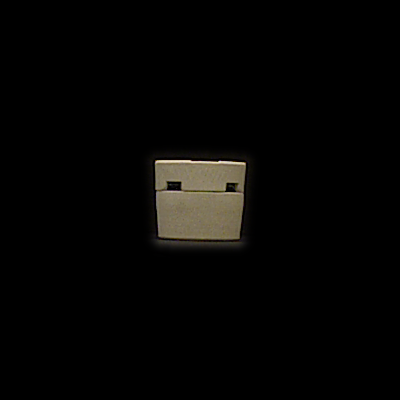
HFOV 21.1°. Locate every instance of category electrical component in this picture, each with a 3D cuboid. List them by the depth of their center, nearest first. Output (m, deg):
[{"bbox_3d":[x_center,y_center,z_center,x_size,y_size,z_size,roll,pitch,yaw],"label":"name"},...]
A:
[{"bbox_3d":[0.000,0.000,0.649,0.055,0.047,0.055,1,1,0],"label":"electrical component"}]
